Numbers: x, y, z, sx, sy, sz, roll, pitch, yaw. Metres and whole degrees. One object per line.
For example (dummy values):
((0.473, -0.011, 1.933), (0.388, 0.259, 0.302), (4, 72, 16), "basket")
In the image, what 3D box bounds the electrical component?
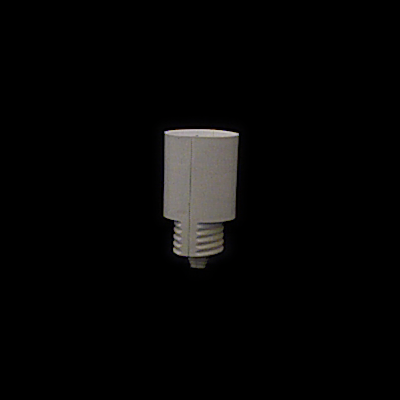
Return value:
((0.000, 0.000, 0.640), (0.043, 0.082, 0.042), (0, 12, 0), "electrical component")
